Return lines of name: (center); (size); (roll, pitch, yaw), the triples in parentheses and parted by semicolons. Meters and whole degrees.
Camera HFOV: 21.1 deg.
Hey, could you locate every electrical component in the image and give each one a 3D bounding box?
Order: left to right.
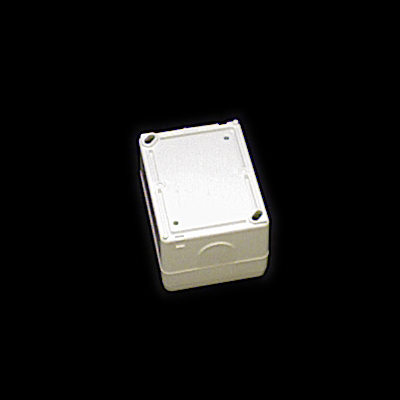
electrical component: (0.000, 0.000, 0.632); (0.062, 0.095, 0.061); (-9, -37, -7)
